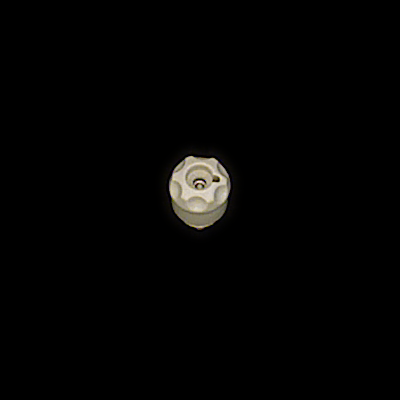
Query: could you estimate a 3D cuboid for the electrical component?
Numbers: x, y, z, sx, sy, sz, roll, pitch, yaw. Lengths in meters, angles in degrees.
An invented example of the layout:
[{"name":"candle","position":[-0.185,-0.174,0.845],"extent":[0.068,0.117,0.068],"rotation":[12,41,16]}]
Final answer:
[{"name":"electrical component","position":[0.000,0.000,0.633],"extent":[0.035,0.035,0.061],"rotation":[0,-26,0]}]
